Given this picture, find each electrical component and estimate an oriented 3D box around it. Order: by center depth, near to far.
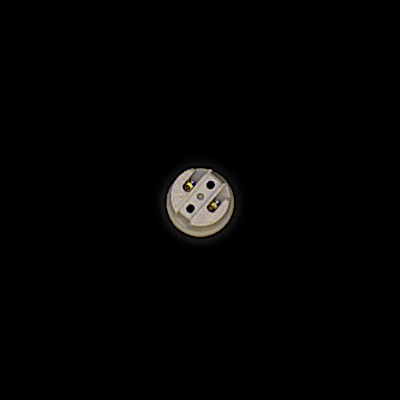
[{"bbox_3d":[0.000,0.000,0.634,0.040,0.040,0.046,0,-6,0],"label":"electrical component"}]
